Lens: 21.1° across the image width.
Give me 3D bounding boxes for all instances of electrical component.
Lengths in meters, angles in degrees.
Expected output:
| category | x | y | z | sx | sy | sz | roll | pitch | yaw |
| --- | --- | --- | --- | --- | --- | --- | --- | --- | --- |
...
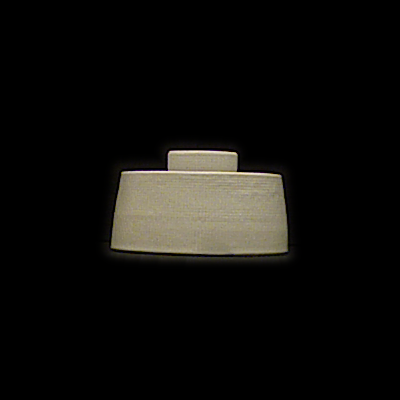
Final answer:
| category | x | y | z | sx | sy | sz | roll | pitch | yaw |
| --- | --- | --- | --- | --- | --- | --- | --- | --- | --- |
| electrical component | 0.000 | 0.000 | 0.655 | 0.108 | 0.060 | 0.108 | 1 | 1 | 1 |
